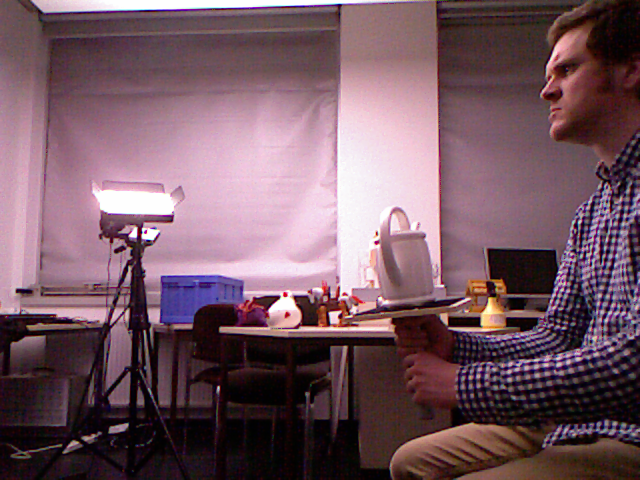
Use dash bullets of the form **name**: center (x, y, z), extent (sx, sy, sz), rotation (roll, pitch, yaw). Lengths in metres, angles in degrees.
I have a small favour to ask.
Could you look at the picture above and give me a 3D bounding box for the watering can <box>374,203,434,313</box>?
- **watering can**: center (0.176, 0.038, 1.033), extent (0.104, 0.225, 0.348), rotation (-7, -2, 21)
